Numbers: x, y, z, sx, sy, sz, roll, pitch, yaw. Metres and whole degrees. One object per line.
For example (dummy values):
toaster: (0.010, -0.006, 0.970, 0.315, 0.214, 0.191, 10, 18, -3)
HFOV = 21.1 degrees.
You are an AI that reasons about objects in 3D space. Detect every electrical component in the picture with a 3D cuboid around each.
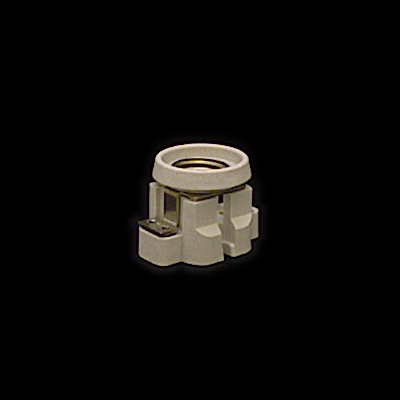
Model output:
electrical component: (0.000, 0.000, 0.637, 0.078, 0.057, 0.057, -16, 27, -37)
